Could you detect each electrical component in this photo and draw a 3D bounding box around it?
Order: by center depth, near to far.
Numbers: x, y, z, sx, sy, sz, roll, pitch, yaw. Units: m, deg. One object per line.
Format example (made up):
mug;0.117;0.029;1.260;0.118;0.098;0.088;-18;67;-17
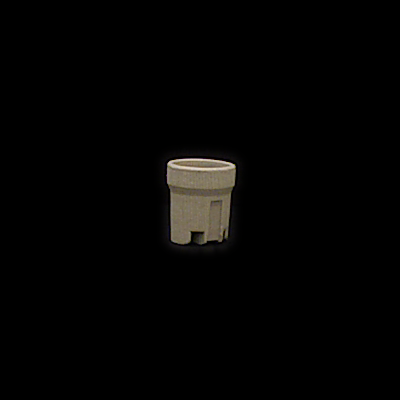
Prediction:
electrical component;0.000;0.000;0.642;0.040;0.046;0.040;1;11;0
